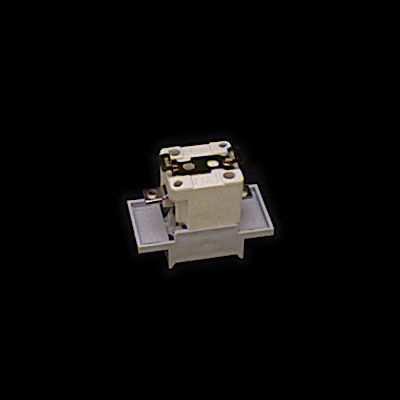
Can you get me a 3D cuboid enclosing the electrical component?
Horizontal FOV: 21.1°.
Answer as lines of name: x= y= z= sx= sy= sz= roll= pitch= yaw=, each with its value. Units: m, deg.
electrical component: x=0.000 y=0.000 z=0.630 sx=0.081 sy=0.064 sz=0.041 roll=-8 pitch=43 yaw=-10
